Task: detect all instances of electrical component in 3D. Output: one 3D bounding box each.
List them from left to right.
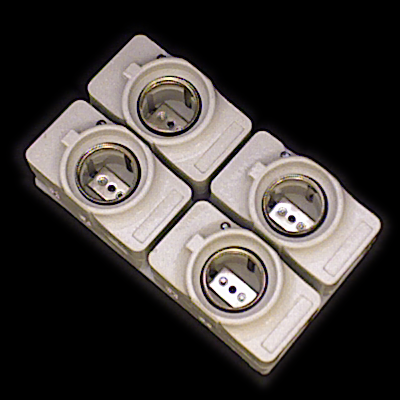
[{"bbox_3d":[0.000,0.000,0.625,0.186,0.106,0.060,39,-13,11],"label":"electrical component"}]
